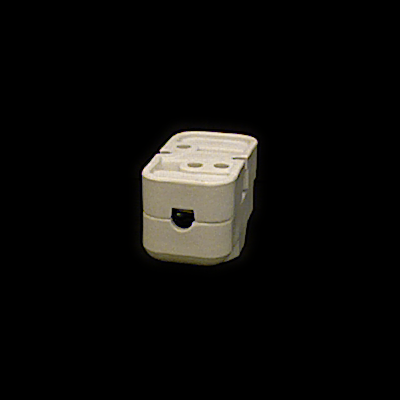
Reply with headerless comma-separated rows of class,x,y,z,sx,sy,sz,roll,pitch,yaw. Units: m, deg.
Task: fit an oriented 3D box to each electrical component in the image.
electrical component,0.000,0.000,0.647,0.053,0.060,0.094,6,22,12
